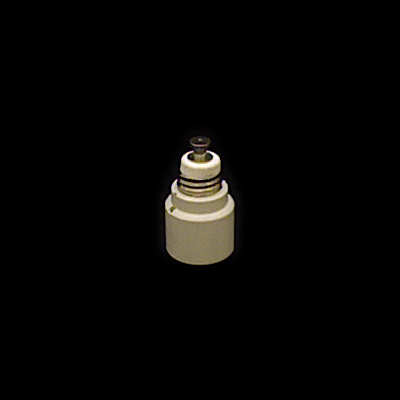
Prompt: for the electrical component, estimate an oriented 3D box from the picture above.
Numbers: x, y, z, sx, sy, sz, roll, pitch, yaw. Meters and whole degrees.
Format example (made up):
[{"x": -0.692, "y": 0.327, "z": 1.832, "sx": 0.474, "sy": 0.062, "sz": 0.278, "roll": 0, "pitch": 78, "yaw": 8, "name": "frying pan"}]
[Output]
[{"x": 0.000, "y": 0.000, "z": 0.630, "sx": 0.040, "sy": 0.079, "sz": 0.039, "roll": 0, "pitch": 32, "yaw": 0, "name": "electrical component"}]
